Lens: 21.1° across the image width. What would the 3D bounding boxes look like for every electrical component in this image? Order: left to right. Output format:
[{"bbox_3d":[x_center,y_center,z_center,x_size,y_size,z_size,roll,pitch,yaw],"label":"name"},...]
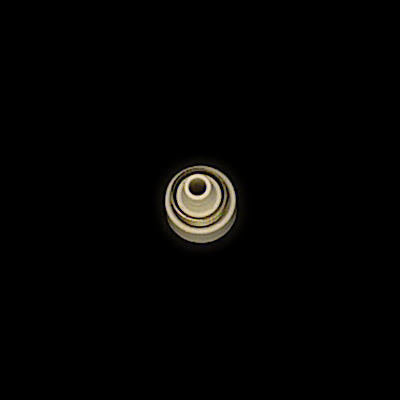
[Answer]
[{"bbox_3d":[0.000,0.000,0.634,0.043,0.043,0.061,0,-15,2],"label":"electrical component"}]
